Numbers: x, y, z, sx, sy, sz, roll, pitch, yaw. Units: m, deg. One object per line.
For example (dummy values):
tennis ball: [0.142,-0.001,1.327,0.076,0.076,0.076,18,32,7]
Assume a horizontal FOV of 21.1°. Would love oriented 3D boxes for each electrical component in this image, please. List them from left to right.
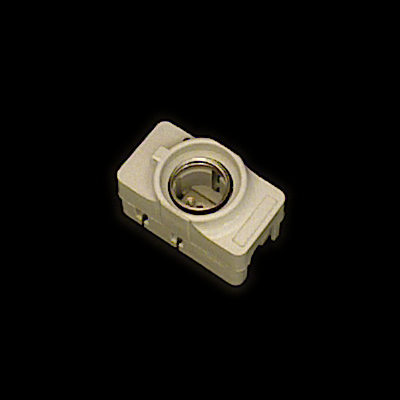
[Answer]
electrical component: [0.000,0.000,0.636,0.089,0.050,0.055,32,-22,15]
